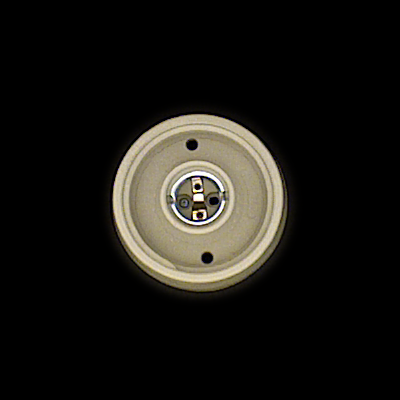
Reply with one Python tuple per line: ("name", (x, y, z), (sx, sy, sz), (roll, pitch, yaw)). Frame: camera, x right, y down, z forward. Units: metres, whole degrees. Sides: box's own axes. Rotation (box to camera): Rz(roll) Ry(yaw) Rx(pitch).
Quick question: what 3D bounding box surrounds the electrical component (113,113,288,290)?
("electrical component", (0.000, 0.000, 0.634), (0.108, 0.108, 0.060), (0, -6, 0))
